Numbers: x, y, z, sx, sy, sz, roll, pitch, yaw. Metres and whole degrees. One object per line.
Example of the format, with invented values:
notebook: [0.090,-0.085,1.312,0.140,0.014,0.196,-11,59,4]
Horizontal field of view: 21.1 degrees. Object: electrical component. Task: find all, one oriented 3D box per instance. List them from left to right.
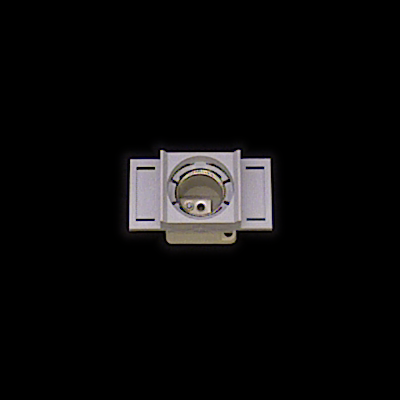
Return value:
electrical component: [0.000,0.000,0.624,0.081,0.042,0.063,0,-16,0]
